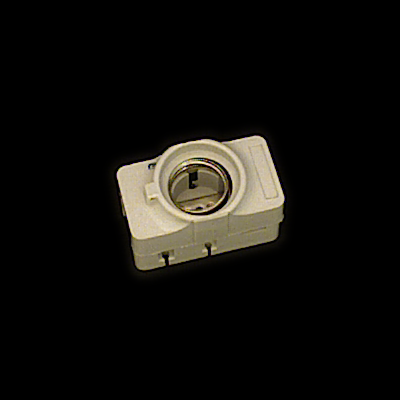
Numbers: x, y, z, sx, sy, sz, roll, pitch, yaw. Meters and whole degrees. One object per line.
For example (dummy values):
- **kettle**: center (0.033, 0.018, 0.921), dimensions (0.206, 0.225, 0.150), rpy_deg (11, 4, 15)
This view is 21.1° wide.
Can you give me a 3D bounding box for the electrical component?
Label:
- **electrical component**: center (0.000, 0.000, 0.636), dimensions (0.090, 0.050, 0.055), rpy_deg (-14, -26, -7)
